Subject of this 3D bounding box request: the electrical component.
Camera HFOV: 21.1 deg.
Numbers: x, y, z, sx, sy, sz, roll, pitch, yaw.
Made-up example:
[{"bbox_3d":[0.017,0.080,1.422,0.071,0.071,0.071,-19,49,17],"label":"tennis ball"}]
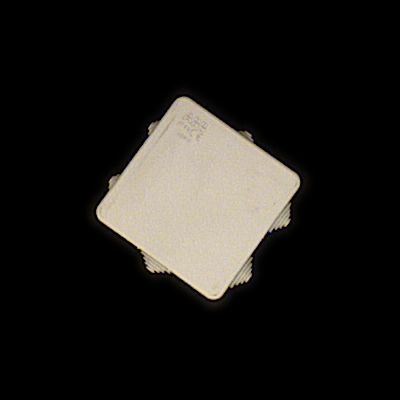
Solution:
[{"bbox_3d":[0.000,0.000,0.642,0.099,0.100,0.048,36,-5,4],"label":"electrical component"}]
